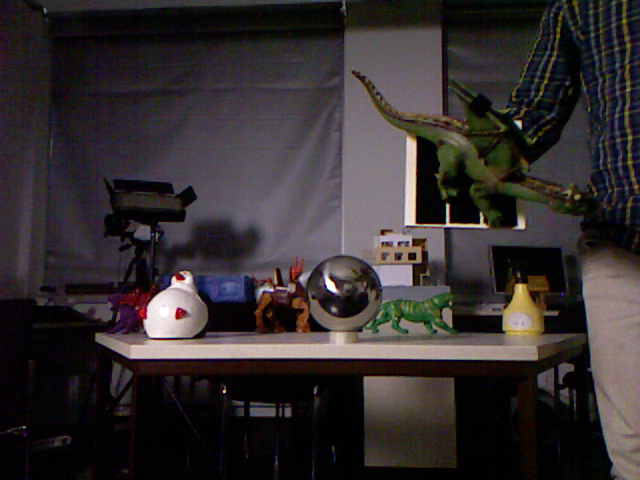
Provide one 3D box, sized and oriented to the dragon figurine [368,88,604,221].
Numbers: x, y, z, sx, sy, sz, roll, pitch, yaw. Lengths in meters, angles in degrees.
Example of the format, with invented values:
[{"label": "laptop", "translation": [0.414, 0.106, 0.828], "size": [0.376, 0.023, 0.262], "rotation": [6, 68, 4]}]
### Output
[{"label": "dragon figurine", "translation": [0.244, -0.158, 0.806], "size": [0.411, 0.123, 0.240], "rotation": [36, -10, 6]}]
